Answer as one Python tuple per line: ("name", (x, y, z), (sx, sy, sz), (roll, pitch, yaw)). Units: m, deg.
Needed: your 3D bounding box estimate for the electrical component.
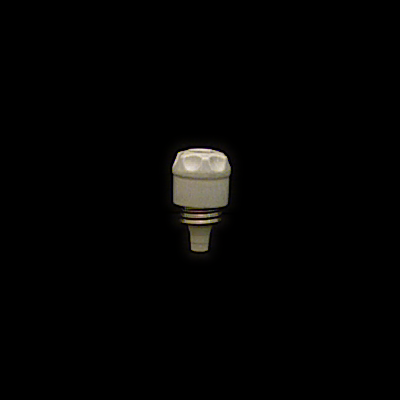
("electrical component", (0.000, 0.000, 0.652), (0.035, 0.062, 0.035), (1, 12, 0))
